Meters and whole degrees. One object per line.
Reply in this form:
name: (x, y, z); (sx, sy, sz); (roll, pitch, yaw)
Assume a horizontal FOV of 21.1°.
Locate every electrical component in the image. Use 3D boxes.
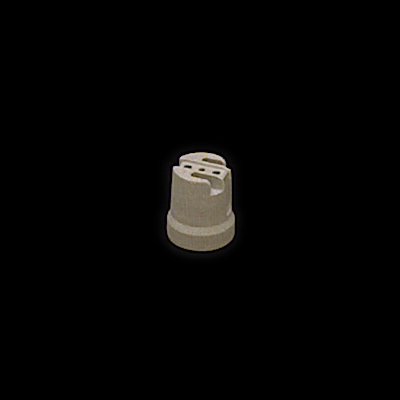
electrical component: (0.000, 0.000, 0.637); (0.040, 0.046, 0.040); (0, 32, 0)
